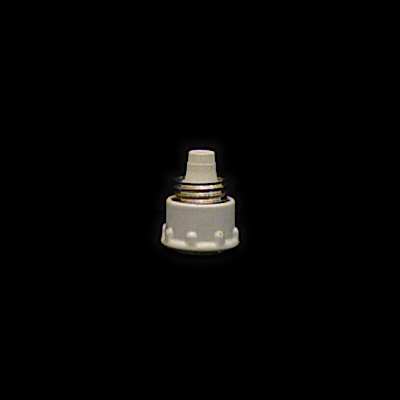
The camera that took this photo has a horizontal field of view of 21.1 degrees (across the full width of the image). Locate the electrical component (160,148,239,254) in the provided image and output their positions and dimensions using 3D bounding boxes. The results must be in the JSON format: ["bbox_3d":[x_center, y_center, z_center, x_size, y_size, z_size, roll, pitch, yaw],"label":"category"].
[{"bbox_3d":[0.000,0.000,0.652,0.048,0.062,0.048,2,11,0],"label":"electrical component"}]
